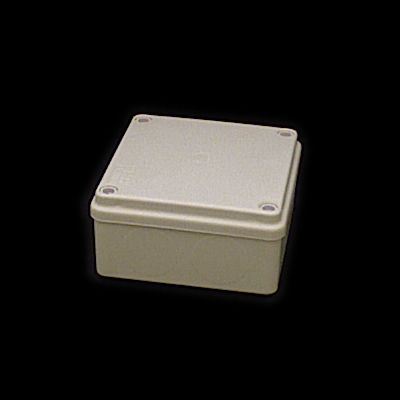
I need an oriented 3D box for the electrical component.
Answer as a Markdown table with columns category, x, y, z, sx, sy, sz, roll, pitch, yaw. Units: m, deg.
| category | x | y | z | sx | sy | sz | roll | pitch | yaw |
| --- | --- | --- | --- | --- | --- | --- | --- | --- | --- |
| electrical component | 0.000 | 0.000 | 0.636 | 0.108 | 0.057 | 0.107 | 6 | 32 | 8 |
